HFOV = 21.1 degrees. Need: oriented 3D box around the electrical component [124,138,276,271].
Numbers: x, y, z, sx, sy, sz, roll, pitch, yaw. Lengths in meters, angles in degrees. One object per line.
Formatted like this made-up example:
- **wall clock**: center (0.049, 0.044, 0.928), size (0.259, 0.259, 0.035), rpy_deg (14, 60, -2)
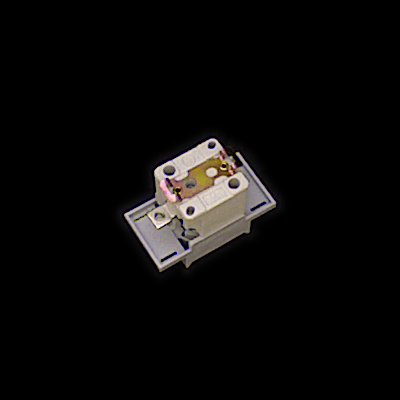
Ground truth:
- **electrical component**: center (0.000, 0.000, 0.626), size (0.081, 0.042, 0.063), rpy_deg (-30, -23, -14)
